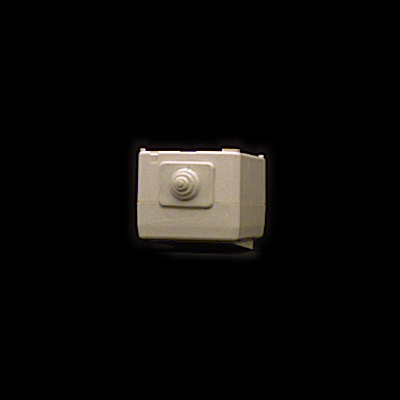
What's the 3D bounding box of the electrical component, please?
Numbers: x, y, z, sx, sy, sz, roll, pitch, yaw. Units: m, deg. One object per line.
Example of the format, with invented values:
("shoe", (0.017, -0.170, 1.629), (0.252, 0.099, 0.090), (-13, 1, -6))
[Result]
("electrical component", (0.000, 0.000, 0.649), (0.061, 0.061, 0.096), (1, 1, 14))
